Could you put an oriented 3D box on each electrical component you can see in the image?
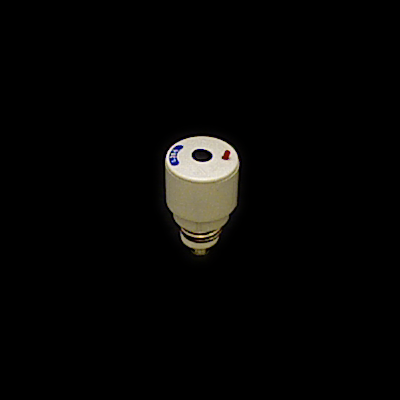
[{"bbox_3d":[0.000,0.000,0.623,0.040,0.079,0.039,1,42,-1],"label":"electrical component"}]
